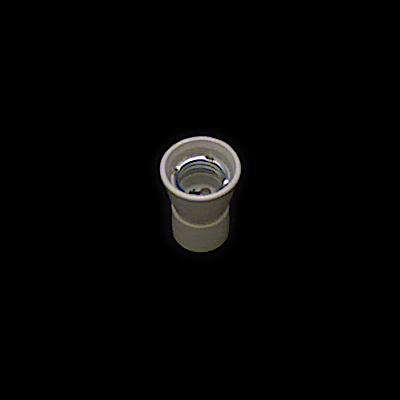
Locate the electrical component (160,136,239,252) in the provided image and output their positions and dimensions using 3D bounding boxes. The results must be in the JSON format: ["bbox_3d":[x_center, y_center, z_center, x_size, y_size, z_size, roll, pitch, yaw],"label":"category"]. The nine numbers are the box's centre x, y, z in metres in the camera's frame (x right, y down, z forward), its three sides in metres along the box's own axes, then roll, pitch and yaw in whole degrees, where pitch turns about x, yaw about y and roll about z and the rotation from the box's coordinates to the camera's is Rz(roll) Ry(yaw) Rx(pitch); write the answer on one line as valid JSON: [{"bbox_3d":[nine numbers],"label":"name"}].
[{"bbox_3d":[0.000,0.000,0.625,0.044,0.044,0.065,0,-36,0],"label":"electrical component"}]
